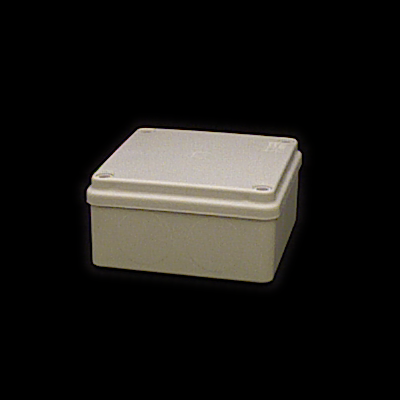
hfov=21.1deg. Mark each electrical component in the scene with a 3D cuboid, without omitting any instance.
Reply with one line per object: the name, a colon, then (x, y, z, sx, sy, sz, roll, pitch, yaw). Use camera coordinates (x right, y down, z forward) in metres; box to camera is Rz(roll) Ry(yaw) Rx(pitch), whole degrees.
electrical component: (0.000, 0.000, 0.639, 0.108, 0.057, 0.107, 5, 21, 11)
